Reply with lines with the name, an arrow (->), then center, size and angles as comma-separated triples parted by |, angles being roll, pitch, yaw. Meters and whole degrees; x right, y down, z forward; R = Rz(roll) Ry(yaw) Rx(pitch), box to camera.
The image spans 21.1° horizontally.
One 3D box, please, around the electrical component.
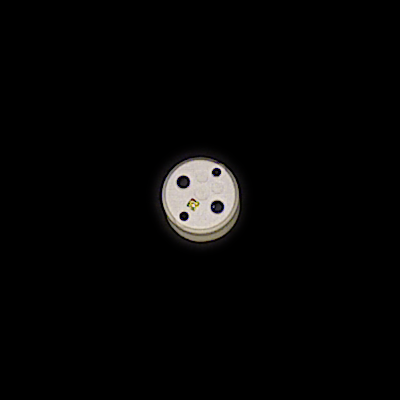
electrical component -> 0.000, 0.000, 0.630 | 0.045, 0.045, 0.055 | 0, -7, 1
